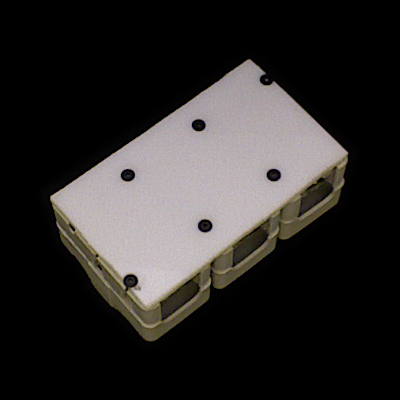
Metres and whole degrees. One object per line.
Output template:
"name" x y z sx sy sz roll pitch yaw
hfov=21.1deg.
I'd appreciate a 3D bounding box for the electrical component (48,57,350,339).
"electrical component" 0.000 0.000 0.633 0.150 0.089 0.062 -36 -21 -17
